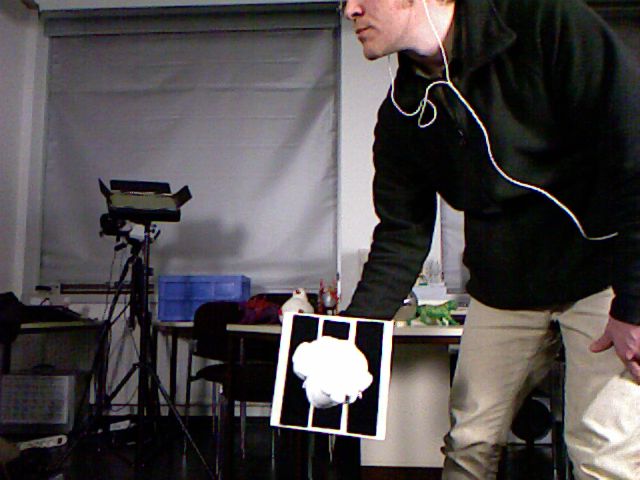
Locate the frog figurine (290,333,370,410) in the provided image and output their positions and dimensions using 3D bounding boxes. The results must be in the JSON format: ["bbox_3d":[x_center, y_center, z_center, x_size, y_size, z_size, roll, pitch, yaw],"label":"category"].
[{"bbox_3d":[0.013,0.215,0.857,0.138,0.124,0.158,27,-11,11],"label":"frog figurine"}]
